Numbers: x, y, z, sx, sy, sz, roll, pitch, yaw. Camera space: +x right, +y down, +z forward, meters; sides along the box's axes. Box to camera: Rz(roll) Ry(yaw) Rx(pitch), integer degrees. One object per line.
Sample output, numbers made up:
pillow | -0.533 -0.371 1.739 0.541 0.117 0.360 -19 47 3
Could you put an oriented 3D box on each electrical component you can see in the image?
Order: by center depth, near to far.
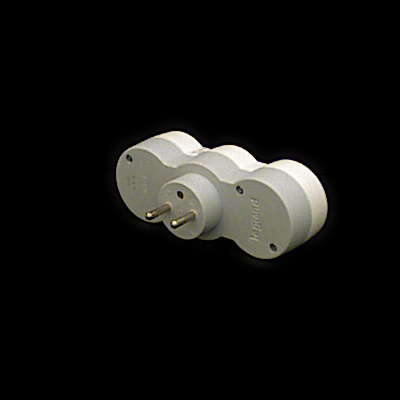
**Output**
electrical component | 0.000 0.000 0.646 0.136 0.053 0.074 17 28 34
